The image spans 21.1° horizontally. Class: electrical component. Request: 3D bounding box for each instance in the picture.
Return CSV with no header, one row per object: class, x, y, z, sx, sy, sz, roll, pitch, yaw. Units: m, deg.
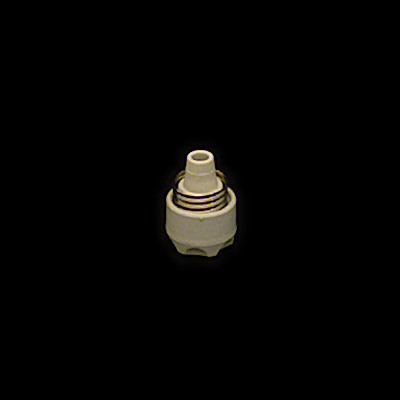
electrical component,0.000,0.000,0.640,0.043,0.063,0.043,0,33,1
